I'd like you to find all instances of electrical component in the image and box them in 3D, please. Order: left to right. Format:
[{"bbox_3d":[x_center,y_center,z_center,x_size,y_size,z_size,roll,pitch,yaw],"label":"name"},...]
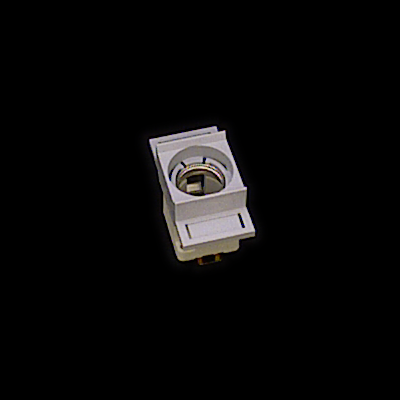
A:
[{"bbox_3d":[0.000,0.000,0.627,0.042,0.080,0.064,-12,-36,-8],"label":"electrical component"}]
